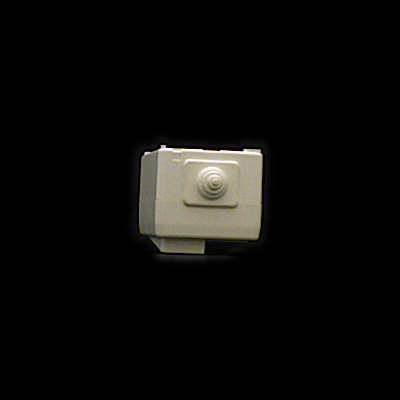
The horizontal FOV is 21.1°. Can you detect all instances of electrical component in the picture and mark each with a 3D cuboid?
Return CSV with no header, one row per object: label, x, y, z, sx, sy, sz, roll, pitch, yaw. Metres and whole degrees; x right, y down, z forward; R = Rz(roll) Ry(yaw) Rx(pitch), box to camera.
electrical component,-0.001,0.000,0.642,0.062,0.061,0.096,2,-1,-11
